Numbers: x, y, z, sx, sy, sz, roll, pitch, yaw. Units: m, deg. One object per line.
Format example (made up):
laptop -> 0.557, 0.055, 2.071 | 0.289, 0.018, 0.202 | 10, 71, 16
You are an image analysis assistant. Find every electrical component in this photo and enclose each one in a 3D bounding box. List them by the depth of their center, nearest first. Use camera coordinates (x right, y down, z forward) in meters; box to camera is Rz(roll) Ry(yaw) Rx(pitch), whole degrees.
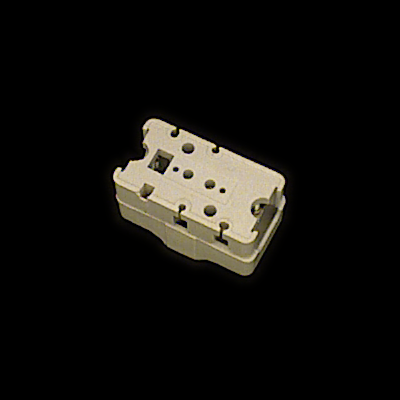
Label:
electrical component -> 0.000, 0.000, 0.636 | 0.089, 0.050, 0.055 | 25, -23, 12
